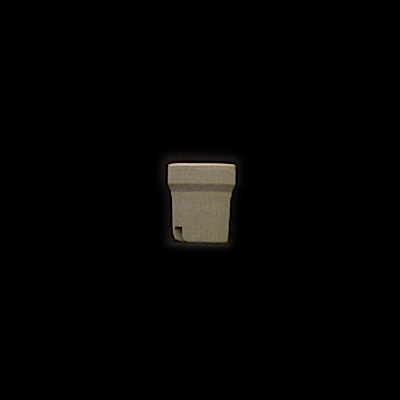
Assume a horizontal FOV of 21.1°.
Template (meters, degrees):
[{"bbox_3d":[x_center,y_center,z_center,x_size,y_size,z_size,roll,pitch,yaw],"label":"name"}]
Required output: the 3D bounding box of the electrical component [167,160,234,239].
[{"bbox_3d":[0.000,0.000,0.649,0.040,0.046,0.040,1,1,1],"label":"electrical component"}]
